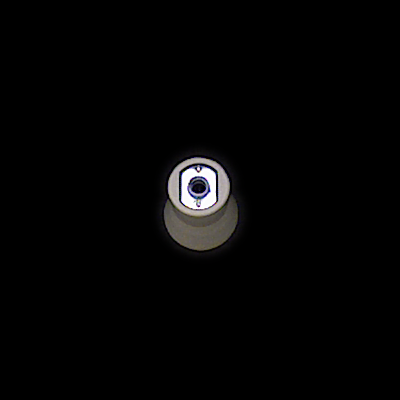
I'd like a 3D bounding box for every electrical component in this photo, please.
[{"bbox_3d":[0.000,0.000,0.625,0.044,0.044,0.065,0,-16,1],"label":"electrical component"}]
